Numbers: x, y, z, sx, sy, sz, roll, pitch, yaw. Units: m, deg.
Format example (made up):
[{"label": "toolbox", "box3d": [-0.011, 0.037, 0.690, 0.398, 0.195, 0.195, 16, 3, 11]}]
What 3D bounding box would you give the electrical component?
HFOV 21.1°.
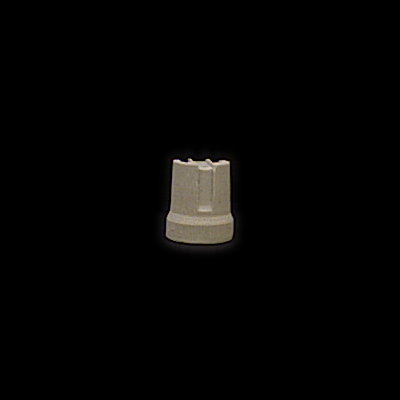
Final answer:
[{"label": "electrical component", "box3d": [0.000, 0.000, 0.647, 0.040, 0.046, 0.040, 2, 11, 0]}]
